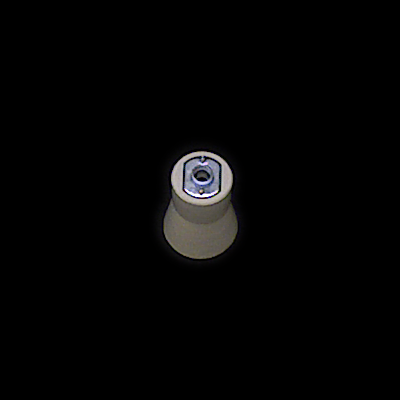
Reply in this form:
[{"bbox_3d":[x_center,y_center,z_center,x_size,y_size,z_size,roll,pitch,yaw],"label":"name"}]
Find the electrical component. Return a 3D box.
[{"bbox_3d":[0.000,0.000,0.624,0.044,0.044,0.065,0,-27,-1],"label":"electrical component"}]
